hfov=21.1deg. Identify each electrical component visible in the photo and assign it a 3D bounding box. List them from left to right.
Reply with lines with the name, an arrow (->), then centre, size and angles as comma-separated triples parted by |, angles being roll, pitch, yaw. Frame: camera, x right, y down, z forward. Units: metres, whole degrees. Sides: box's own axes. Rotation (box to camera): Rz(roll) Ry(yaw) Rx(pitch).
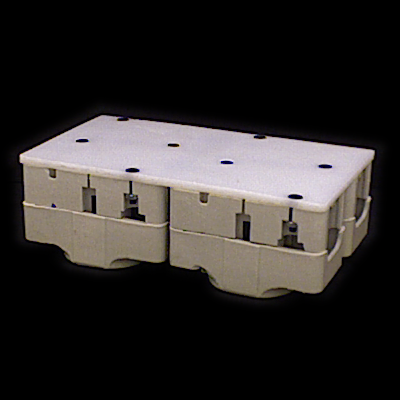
electrical component -> 0.000, 0.000, 0.638 | 0.185, 0.061, 0.104 | 9, 22, 21
